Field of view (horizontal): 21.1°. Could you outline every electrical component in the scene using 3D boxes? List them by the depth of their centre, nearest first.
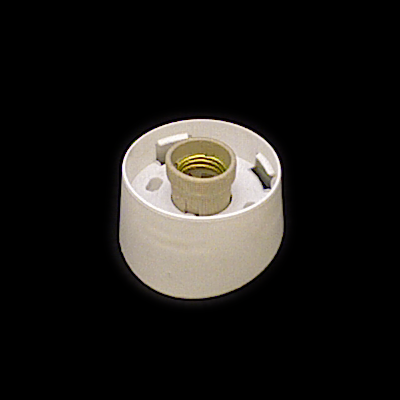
[{"bbox_3d":[0.000,0.000,0.630,0.099,0.065,0.098,1,42,0],"label":"electrical component"}]
